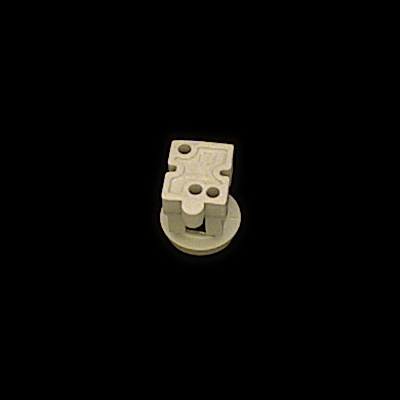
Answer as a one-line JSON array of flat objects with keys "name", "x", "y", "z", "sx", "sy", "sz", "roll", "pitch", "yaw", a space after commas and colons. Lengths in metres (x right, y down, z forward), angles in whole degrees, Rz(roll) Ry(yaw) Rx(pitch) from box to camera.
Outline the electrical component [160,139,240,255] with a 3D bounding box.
[{"name": "electrical component", "x": 0.000, "y": 0.000, "z": 0.638, "sx": 0.048, "sy": 0.066, "sz": 0.055, "roll": 5, "pitch": -38, "yaw": 5}]
